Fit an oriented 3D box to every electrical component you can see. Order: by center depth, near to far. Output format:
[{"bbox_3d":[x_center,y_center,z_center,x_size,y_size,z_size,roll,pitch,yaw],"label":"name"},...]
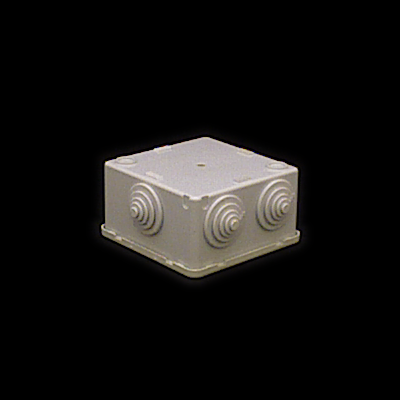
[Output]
[{"bbox_3d":[0.000,0.000,0.640,0.099,0.049,0.098,-17,27,-39],"label":"electrical component"}]
